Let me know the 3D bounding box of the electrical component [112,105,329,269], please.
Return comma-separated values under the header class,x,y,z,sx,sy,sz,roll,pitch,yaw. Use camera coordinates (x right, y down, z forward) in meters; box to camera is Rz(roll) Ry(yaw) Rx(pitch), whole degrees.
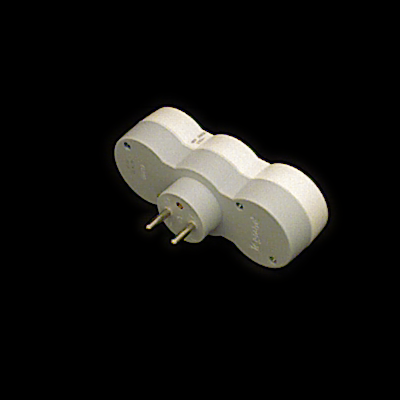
class,x,y,z,sx,sy,sz,roll,pitch,yaw
electrical component,0.000,0.000,0.640,0.136,0.052,0.074,29,51,27
